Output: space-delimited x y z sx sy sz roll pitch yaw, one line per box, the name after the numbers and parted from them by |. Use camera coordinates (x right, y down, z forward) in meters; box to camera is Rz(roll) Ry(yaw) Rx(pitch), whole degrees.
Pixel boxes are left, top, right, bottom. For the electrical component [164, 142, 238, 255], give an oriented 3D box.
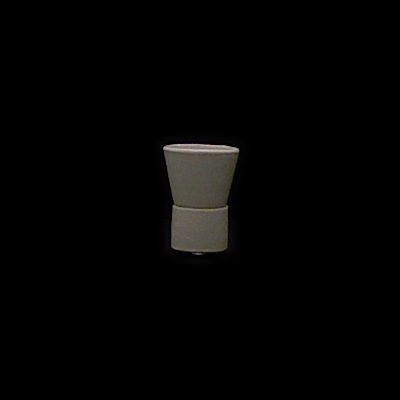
0.000 0.000 0.646 0.044 0.066 0.044 1 10 0 | electrical component
